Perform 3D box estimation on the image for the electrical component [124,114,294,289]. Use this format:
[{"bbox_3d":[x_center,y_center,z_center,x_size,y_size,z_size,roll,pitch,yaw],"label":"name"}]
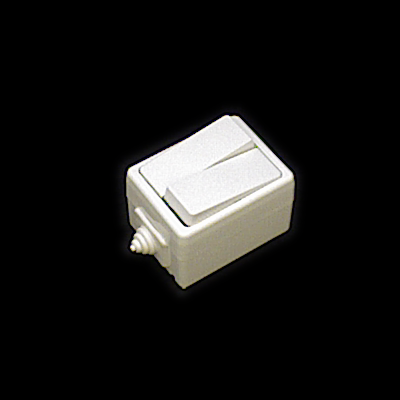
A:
[{"bbox_3d":[0.000,0.000,0.627,0.096,0.061,0.061,-28,-33,-20],"label":"electrical component"}]
